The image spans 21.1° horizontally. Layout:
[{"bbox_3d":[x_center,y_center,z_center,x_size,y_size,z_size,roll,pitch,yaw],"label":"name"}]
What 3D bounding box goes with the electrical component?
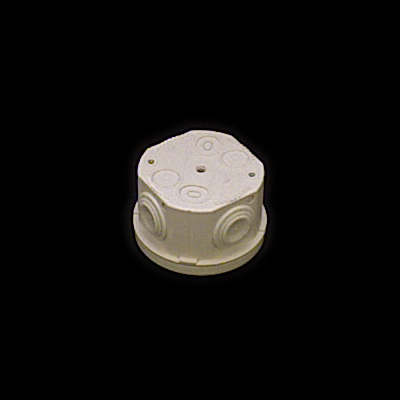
[{"bbox_3d":[0.000,0.000,0.634,0.080,0.051,0.080,1,42,-1],"label":"electrical component"}]
